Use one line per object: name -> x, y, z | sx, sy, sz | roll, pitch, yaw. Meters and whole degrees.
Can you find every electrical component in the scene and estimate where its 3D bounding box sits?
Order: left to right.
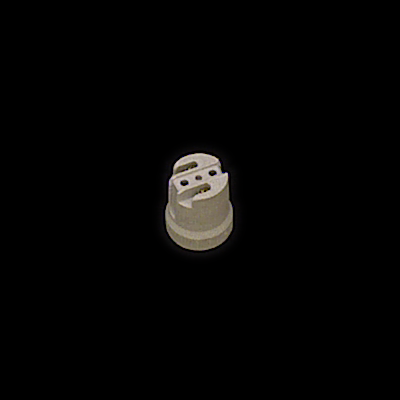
electrical component -> 0.000, 0.000, 0.634 | 0.040, 0.040, 0.046 | 0, -38, -1
